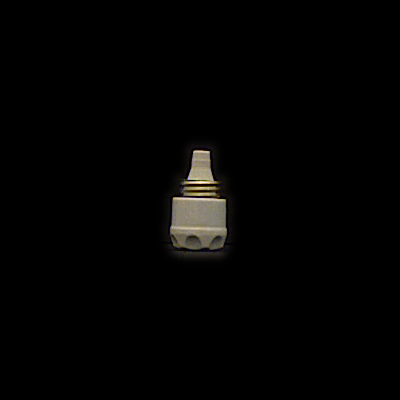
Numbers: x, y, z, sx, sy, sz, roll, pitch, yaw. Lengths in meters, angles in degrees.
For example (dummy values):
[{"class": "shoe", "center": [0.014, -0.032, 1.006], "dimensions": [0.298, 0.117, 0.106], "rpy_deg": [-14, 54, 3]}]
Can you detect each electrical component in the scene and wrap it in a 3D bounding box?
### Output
[{"class": "electrical component", "center": [0.000, 0.000, 0.664], "dimensions": [0.035, 0.061, 0.035], "rpy_deg": [2, 3, 0]}]
